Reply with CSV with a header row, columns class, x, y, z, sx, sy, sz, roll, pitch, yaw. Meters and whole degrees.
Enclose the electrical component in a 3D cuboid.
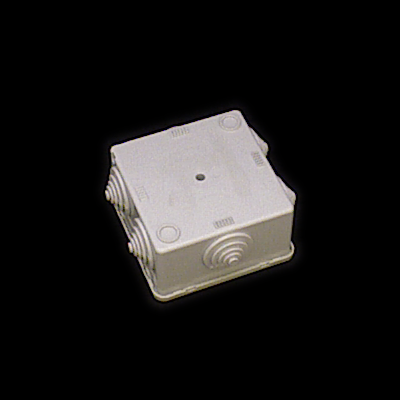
class,x,y,z,sx,sy,sz,roll,pitch,yaw
electrical component,0.000,0.000,0.633,0.100,0.099,0.049,-17,-35,-14
